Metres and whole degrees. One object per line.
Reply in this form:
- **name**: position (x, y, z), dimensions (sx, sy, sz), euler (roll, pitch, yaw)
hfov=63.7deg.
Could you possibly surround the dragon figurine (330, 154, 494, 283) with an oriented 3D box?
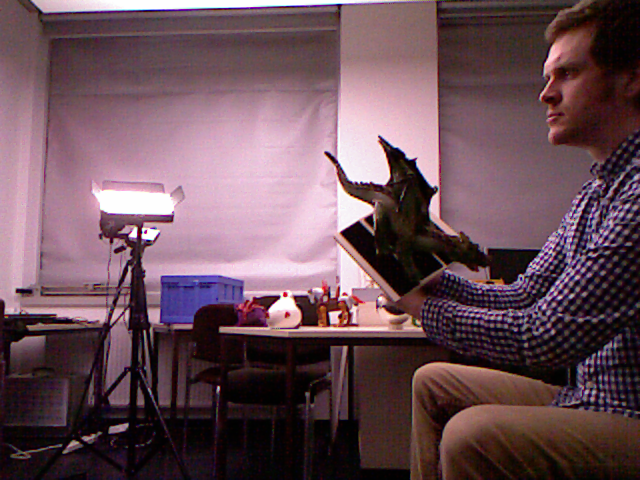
- **dragon figurine**: position (0.147, -0.073, 0.965), dimensions (0.124, 0.417, 0.238), euler (-35, -26, -20)
